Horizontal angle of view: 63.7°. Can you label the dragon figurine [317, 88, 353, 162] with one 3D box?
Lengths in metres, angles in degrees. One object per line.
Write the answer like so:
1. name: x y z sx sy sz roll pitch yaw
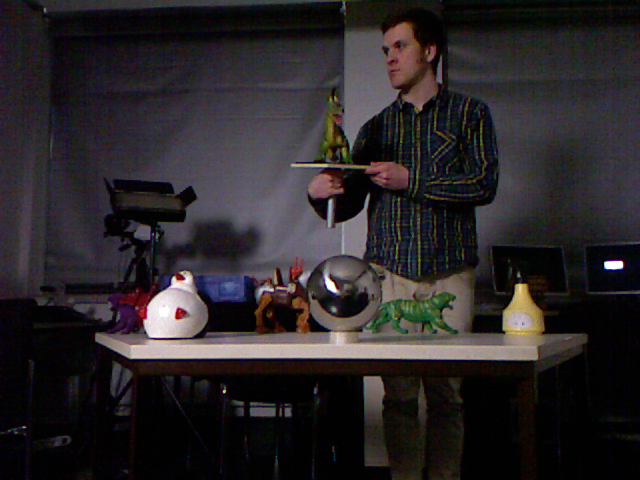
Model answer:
1. dragon figurine: 0.046 -0.375 1.695 0.122 0.241 0.413 -1 7 -2
